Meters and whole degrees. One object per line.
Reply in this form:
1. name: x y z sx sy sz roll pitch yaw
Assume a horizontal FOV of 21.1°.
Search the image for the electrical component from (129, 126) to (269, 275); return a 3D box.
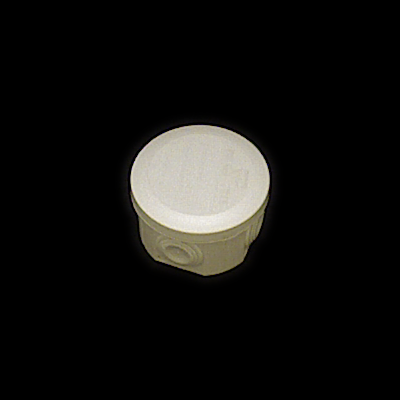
1. electrical component: 0.000 0.000 0.630 0.080 0.080 0.051 0 -38 0
